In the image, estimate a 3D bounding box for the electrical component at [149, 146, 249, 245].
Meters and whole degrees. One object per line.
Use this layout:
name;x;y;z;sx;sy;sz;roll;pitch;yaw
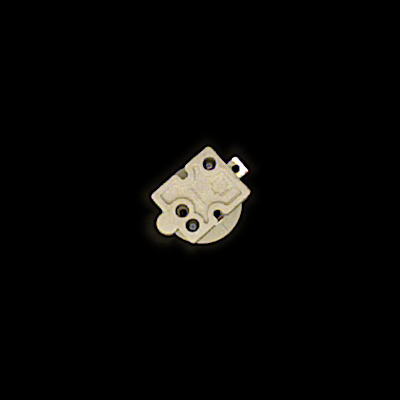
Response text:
electrical component;0.000;0.000;0.638;0.067;0.048;0.055;-41;-6;-4
